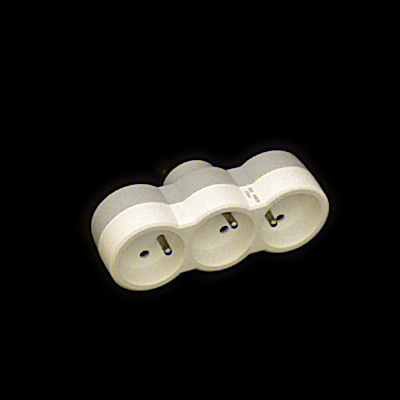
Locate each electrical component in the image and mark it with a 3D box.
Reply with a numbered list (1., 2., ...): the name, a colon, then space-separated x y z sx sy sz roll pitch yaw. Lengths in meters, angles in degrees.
1. electrical component: 0.000 0.000 0.643 0.139 0.053 0.072 -14 43 -16
